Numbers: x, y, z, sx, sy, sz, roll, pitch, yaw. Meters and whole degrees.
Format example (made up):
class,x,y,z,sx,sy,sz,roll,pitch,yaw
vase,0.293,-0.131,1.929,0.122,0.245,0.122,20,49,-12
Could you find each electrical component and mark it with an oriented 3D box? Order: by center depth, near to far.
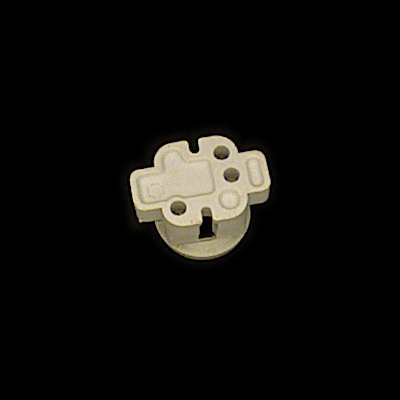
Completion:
class,x,y,z,sx,sy,sz,roll,pitch,yaw
electrical component,0.000,0.000,0.635,0.079,0.058,0.056,-11,-25,-4
